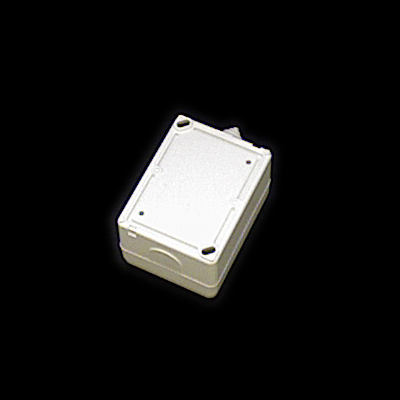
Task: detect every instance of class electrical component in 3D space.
[{"bbox_3d":[0.000,0.000,0.630,0.061,0.096,0.061,23,-25,12],"label":"electrical component"}]
